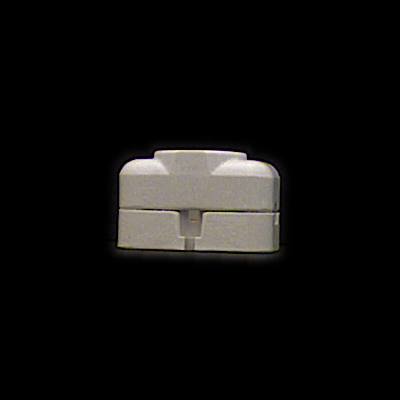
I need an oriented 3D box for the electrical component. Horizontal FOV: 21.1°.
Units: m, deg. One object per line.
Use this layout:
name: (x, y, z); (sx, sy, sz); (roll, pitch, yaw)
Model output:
electrical component: (0.000, 0.000, 0.658); (0.095, 0.059, 0.054); (2, 2, 11)
